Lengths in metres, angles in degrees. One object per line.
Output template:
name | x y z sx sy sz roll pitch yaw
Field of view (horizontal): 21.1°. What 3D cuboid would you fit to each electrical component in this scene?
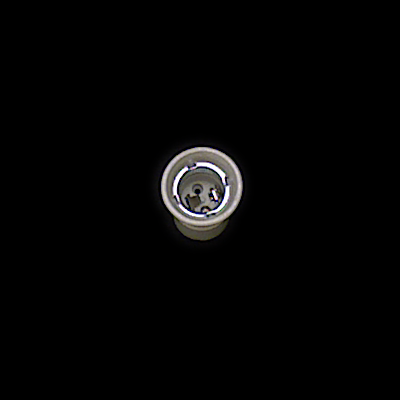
electrical component | 0.000 0.000 0.623 0.044 0.044 0.065 0 -16 0
